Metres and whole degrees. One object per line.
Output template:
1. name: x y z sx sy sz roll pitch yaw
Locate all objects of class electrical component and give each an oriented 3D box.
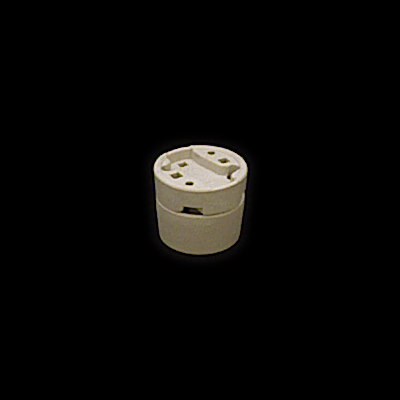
1. electrical component: 0.000 0.000 0.639 0.055 0.047 0.055 1 31 0
